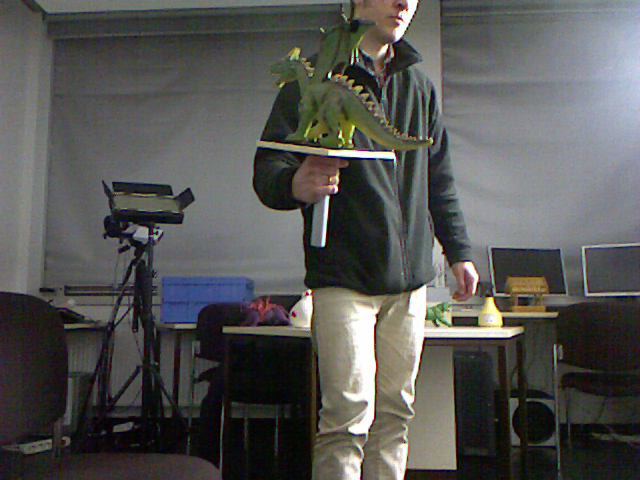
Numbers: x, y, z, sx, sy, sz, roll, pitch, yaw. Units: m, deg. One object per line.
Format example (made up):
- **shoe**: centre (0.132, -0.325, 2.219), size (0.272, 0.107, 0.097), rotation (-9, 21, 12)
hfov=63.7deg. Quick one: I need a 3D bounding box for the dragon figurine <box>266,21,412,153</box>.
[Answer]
- **dragon figurine**: centre (0.037, -0.312, 1.026), size (0.413, 0.241, 0.123), rotation (17, 15, 41)
